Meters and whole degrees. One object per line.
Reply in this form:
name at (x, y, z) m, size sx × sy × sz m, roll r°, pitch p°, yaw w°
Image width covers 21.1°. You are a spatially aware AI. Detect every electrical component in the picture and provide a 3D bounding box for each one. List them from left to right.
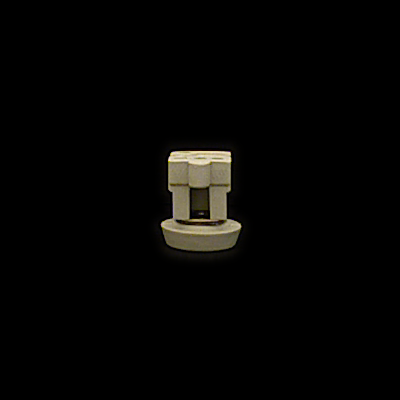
electrical component at (0.000, 0.000, 0.651) m, size 0.048 × 0.056 × 0.066 m, roll 0°, pitch 11°, yaw 1°
